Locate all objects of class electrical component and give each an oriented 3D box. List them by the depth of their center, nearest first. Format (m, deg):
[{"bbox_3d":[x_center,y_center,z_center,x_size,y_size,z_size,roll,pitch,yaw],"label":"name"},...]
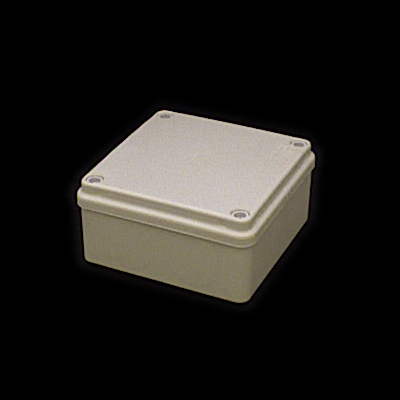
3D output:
[{"bbox_3d":[0.000,0.000,0.635,0.108,0.057,0.108,14,34,21],"label":"electrical component"}]
